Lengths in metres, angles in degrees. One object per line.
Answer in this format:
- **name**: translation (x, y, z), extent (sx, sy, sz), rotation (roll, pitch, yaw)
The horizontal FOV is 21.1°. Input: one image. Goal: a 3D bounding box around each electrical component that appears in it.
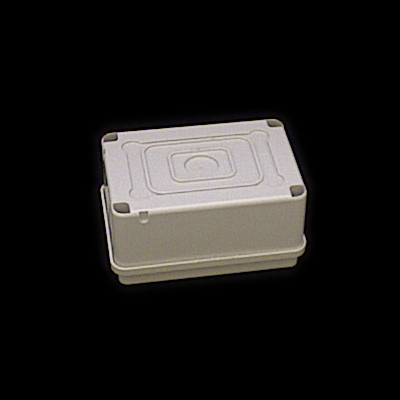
- **electrical component**: translation (0.000, 0.000, 0.632), extent (0.113, 0.057, 0.077), rotation (-5, 42, -8)
